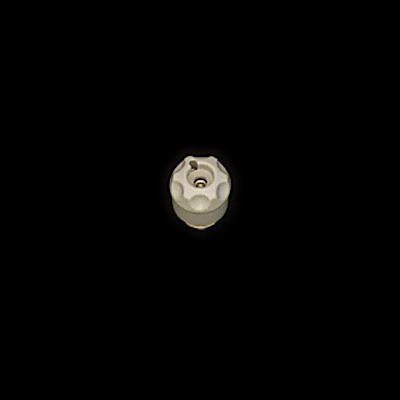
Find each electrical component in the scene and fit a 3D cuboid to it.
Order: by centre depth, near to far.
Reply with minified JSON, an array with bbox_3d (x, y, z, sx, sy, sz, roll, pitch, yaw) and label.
[{"bbox_3d":[0.000,0.000,0.635,0.035,0.035,0.061,0,-27,0],"label":"electrical component"}]
